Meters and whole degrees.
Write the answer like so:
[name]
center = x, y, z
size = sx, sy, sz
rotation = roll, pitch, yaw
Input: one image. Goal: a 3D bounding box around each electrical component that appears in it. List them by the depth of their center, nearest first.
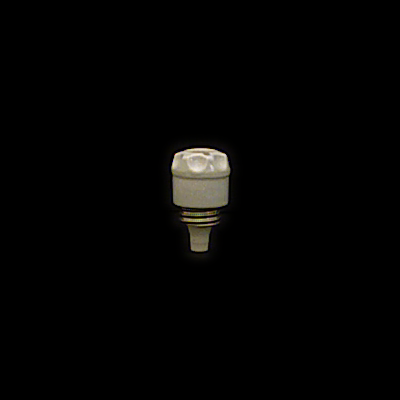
[electrical component]
center = 0.000, 0.000, 0.649
size = 0.035, 0.062, 0.035
rotation = 1, 12, 0
